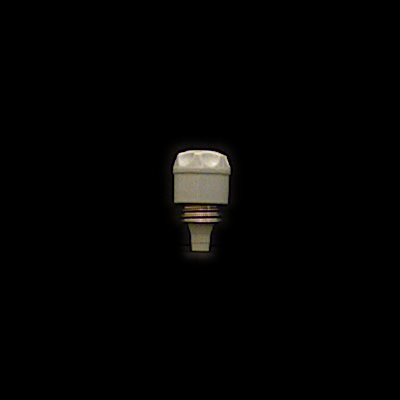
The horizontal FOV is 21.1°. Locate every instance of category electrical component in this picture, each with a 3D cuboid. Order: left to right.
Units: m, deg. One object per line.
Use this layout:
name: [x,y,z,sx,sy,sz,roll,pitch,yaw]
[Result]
electrical component: [0.000,0.000,0.659,0.035,0.061,0.035,1,1,1]
